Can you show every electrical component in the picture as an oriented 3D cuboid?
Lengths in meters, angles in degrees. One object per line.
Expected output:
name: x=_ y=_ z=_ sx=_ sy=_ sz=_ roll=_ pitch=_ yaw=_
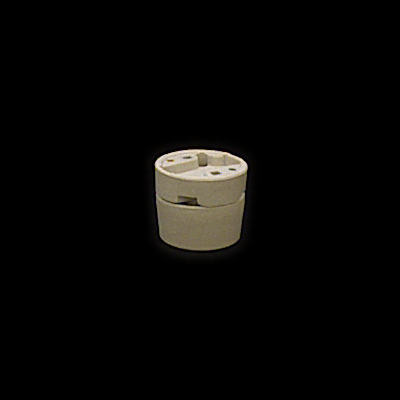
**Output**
electrical component: x=0.000 y=0.000 z=0.643 sx=0.055 sy=0.047 sz=0.055 roll=1 pitch=22 yaw=0
